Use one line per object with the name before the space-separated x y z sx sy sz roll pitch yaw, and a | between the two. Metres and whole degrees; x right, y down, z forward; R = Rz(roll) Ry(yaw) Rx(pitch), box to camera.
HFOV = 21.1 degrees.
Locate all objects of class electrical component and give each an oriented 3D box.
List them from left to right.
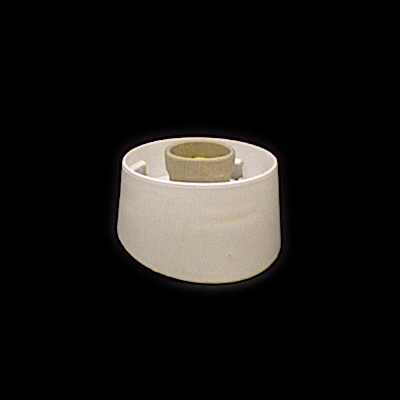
electrical component | 0.000 0.000 0.638 0.099 0.065 0.097 1 21 0
